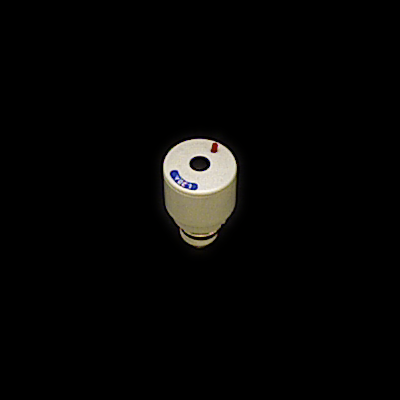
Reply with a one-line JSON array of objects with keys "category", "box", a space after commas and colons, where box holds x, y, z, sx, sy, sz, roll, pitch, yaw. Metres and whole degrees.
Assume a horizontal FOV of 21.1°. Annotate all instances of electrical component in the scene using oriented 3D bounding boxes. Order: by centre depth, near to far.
[{"category": "electrical component", "box": [0.000, 0.000, 0.621, 0.040, 0.040, 0.079, 0, -38, -1]}]
